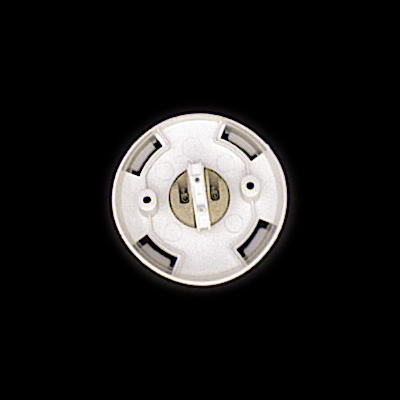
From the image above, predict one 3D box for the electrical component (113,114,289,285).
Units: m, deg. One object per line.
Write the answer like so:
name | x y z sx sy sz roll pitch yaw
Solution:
electrical component | 0.000 0.000 0.624 0.099 0.099 0.064 0 -6 -1
